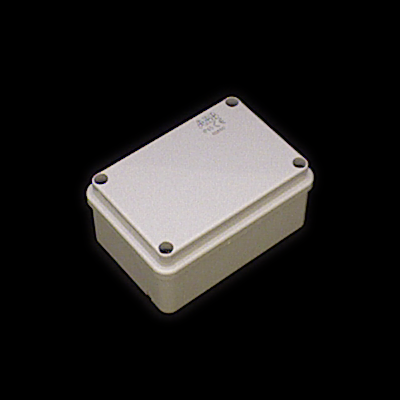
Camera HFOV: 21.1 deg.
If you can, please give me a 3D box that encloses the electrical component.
[{"bbox_3d":[0.000,0.000,0.629,0.113,0.077,0.057,-32,-31,-23],"label":"electrical component"}]
